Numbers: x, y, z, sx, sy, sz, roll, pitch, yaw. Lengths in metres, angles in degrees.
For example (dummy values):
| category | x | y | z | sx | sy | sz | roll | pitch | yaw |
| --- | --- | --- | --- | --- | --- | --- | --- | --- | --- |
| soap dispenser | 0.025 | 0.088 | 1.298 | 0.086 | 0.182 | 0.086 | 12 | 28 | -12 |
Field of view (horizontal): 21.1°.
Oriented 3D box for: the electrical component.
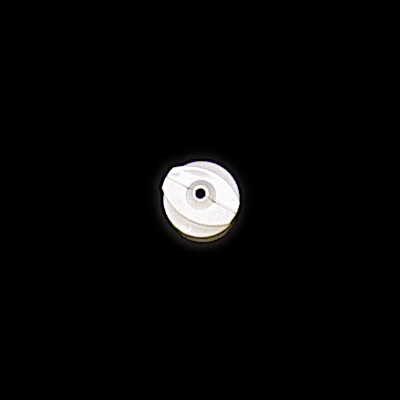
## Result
| category | x | y | z | sx | sy | sz | roll | pitch | yaw |
| --- | --- | --- | --- | --- | --- | --- | --- | --- | --- |
| electrical component | 0.000 | 0.000 | 0.616 | 0.043 | 0.043 | 0.080 | 0 | -6 | 1 |
